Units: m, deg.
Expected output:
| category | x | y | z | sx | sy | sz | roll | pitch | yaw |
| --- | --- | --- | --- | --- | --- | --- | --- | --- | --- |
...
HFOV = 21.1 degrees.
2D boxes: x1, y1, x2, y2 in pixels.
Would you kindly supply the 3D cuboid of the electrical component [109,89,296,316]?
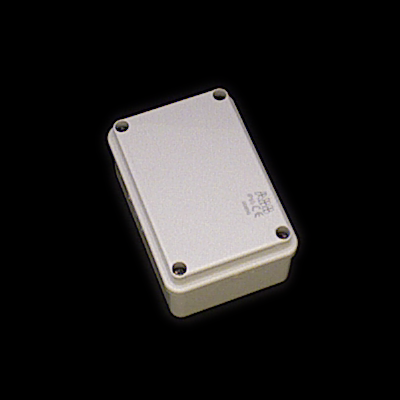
| category | x | y | z | sx | sy | sz | roll | pitch | yaw |
| --- | --- | --- | --- | --- | --- | --- | --- | --- | --- |
| electrical component | 0.000 | 0.000 | 0.627 | 0.078 | 0.113 | 0.057 | -19 | -26 | -10 |
